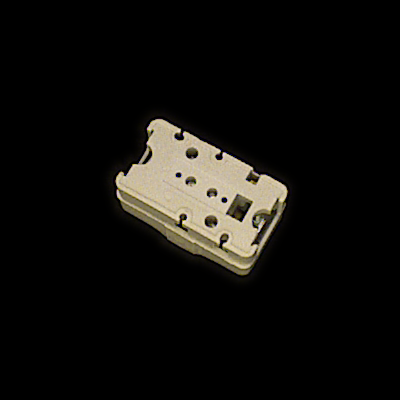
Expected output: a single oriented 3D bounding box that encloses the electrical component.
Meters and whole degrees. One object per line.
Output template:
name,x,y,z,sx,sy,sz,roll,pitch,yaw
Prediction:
electrical component,0.000,0.000,0.636,0.089,0.050,0.055,29,-14,8
